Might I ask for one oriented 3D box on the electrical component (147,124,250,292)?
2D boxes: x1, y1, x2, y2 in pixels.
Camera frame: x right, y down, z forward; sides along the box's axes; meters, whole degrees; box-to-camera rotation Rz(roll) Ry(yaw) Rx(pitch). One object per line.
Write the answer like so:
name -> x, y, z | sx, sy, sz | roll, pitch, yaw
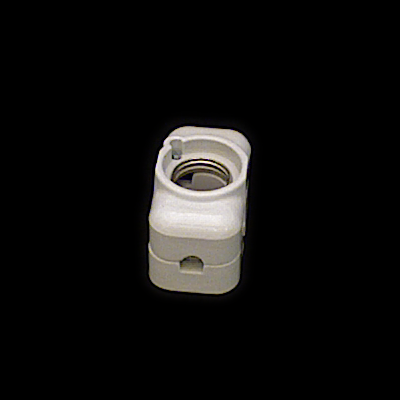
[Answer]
electrical component -> 0.000, 0.000, 0.638 | 0.053, 0.060, 0.094 | 4, 42, 4
